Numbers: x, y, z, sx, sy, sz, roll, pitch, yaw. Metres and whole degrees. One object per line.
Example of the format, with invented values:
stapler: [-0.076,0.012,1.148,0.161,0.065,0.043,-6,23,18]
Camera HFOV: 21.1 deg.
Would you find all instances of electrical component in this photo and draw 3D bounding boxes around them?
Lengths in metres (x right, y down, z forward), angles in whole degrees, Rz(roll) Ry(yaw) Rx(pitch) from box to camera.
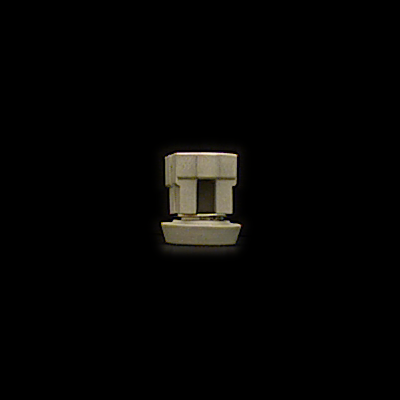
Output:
electrical component: [0.000,0.000,0.655,0.048,0.055,0.066,0,1,-11]
